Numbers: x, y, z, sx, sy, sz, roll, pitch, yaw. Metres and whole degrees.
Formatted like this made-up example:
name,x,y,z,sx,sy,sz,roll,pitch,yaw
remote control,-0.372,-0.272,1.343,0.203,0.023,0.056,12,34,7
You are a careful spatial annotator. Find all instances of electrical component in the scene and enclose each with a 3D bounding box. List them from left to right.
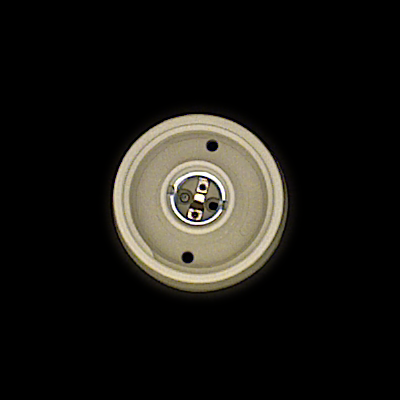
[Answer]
name,x,y,z,sx,sy,sz,roll,pitch,yaw
electrical component,0.000,0.000,0.634,0.108,0.108,0.060,0,-6,0
